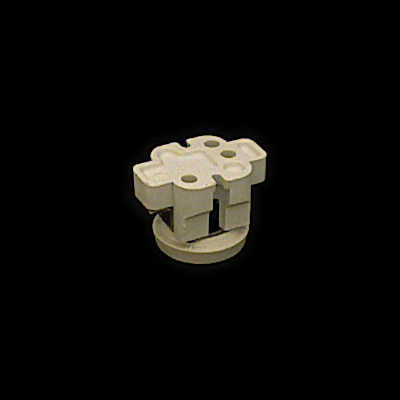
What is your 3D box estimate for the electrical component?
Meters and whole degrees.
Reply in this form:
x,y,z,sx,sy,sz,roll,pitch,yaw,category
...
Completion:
x,y,z,sx,sy,sz,roll,pitch,yaw,category
0.000,0.000,0.640,0.079,0.057,0.057,-17,37,-23,electrical component
